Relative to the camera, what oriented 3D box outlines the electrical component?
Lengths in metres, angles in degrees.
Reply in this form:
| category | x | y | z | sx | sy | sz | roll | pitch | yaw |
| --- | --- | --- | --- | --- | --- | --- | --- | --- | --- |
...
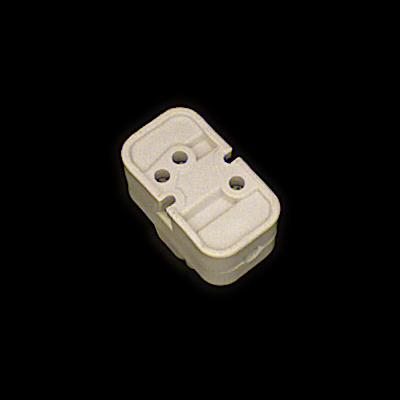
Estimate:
| category | x | y | z | sx | sy | sz | roll | pitch | yaw |
| --- | --- | --- | --- | --- | --- | --- | --- | --- | --- |
| electrical component | 0.000 | 0.000 | 0.634 | 0.054 | 0.095 | 0.059 | -36 | -21 | -16 |
